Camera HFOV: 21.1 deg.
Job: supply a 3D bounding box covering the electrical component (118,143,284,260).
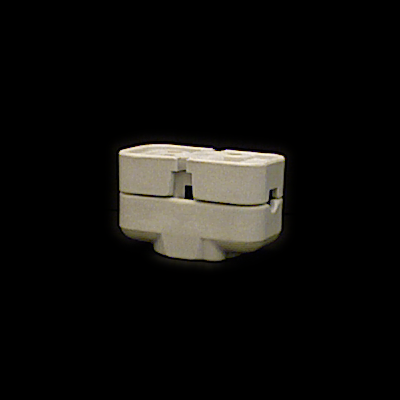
[{"bbox_3d":[0.000,0.000,0.648,0.094,0.060,0.053,7,13,24],"label":"electrical component"}]
